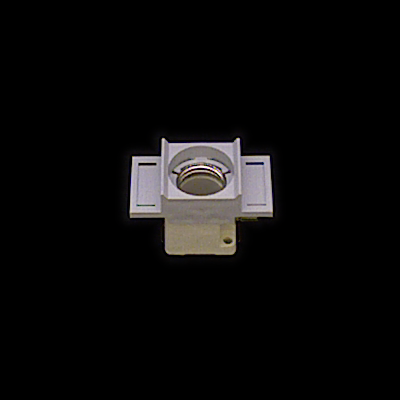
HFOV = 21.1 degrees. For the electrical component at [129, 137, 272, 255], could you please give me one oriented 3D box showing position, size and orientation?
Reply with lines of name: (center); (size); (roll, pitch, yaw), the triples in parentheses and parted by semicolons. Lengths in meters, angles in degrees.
electrical component: (0.000, 0.000, 0.626); (0.081, 0.042, 0.064); (0, -39, 0)
